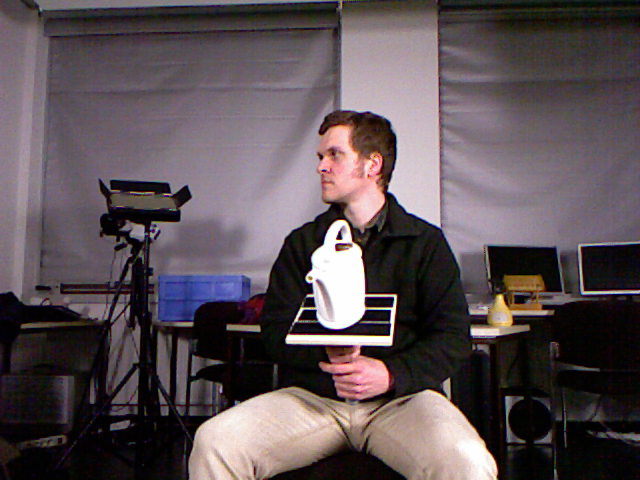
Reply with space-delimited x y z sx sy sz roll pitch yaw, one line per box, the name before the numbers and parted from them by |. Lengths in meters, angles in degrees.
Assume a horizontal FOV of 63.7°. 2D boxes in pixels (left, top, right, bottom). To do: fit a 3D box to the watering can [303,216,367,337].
watering can | 0.026 0.084 0.990 0.104 0.221 0.353 0 19 15
